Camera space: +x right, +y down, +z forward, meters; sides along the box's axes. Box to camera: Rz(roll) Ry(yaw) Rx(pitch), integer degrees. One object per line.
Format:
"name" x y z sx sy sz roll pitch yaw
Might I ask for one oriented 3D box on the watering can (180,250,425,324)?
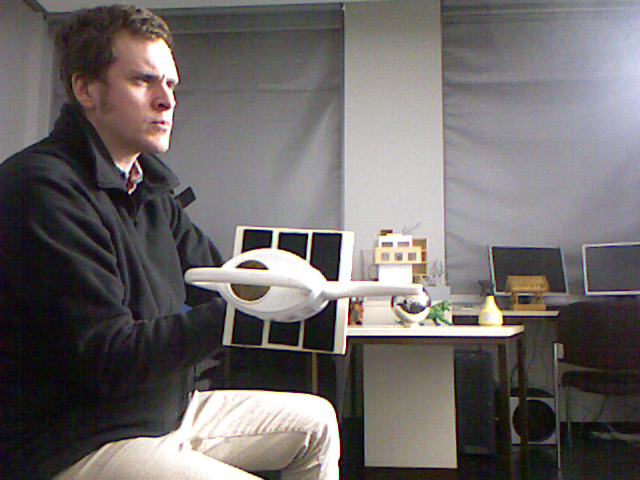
"watering can" -0.026 0.074 0.762 0.349 0.105 0.223 4 -10 10
